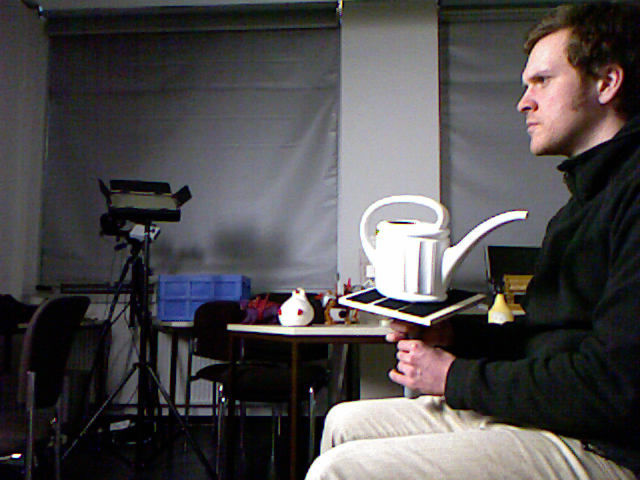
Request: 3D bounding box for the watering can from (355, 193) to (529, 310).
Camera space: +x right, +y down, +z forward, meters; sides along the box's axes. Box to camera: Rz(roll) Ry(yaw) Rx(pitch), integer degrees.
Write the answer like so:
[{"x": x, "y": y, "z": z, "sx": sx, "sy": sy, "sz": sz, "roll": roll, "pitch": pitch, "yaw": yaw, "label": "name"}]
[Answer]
[{"x": 0.205, "y": 0.028, "z": 0.951, "sx": 0.349, "sy": 0.222, "sz": 0.105, "roll": 9, "pitch": 18, "yaw": 42, "label": "watering can"}]
